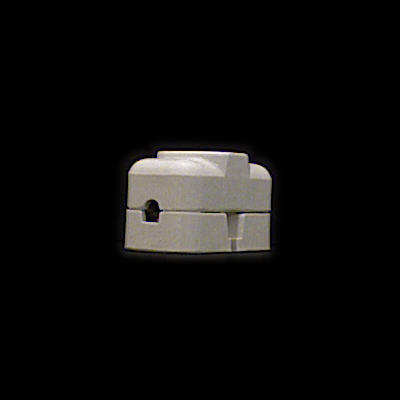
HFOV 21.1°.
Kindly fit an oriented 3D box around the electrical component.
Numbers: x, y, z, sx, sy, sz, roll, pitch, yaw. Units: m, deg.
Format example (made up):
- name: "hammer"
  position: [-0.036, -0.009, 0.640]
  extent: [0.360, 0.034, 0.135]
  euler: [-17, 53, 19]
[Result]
- name: "electrical component"
  position: [0.000, 0.000, 0.658]
  extent: [0.053, 0.059, 0.096]
  euler: [3, 1, 36]
